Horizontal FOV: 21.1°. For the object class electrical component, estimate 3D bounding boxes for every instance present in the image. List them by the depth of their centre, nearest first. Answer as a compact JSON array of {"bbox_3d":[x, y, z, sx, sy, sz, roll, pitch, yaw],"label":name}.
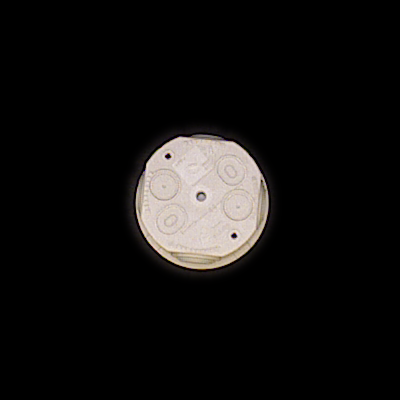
[{"bbox_3d":[0.000,0.000,0.634,0.080,0.080,0.050,0,-7,1],"label":"electrical component"}]
